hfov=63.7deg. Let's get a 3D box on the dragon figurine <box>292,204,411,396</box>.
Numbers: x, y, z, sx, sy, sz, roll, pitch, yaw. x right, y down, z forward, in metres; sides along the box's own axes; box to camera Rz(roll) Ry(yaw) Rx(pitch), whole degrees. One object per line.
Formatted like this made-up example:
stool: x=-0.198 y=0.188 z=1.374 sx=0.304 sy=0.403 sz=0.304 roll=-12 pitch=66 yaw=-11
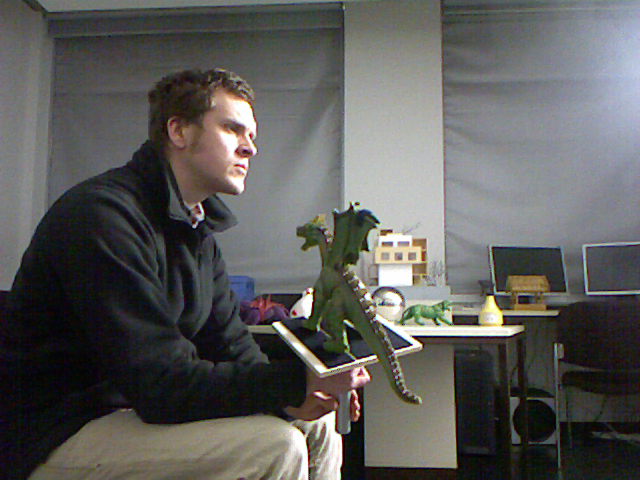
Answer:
dragon figurine: x=0.052 y=0.061 z=0.886 sx=0.123 sy=0.240 sz=0.416 roll=-7 pitch=21 yaw=-26
